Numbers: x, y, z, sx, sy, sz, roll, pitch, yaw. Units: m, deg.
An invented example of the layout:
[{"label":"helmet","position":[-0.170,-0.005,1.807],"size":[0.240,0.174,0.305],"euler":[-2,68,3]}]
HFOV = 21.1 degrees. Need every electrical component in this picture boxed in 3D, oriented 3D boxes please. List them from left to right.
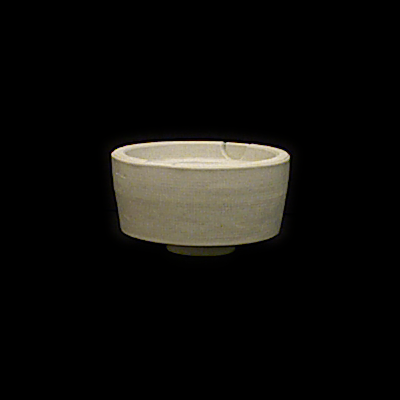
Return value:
[{"label":"electrical component","position":[0.000,0.000,0.655],"size":[0.108,0.061,0.107],"euler":[1,11,0]}]
